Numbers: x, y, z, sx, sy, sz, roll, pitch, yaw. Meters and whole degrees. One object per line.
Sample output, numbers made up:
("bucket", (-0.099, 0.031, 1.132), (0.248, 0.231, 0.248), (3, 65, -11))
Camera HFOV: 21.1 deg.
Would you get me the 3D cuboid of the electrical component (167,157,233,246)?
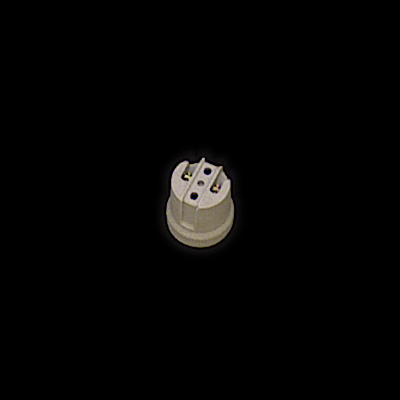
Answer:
("electrical component", (0.000, 0.000, 0.633), (0.040, 0.040, 0.046), (0, -26, -1))
